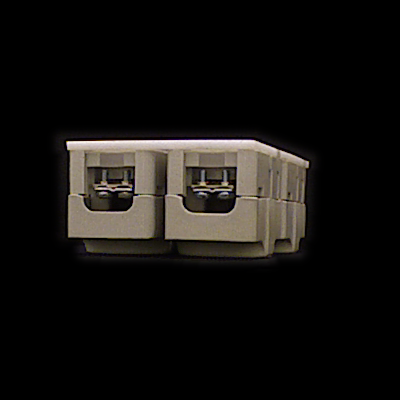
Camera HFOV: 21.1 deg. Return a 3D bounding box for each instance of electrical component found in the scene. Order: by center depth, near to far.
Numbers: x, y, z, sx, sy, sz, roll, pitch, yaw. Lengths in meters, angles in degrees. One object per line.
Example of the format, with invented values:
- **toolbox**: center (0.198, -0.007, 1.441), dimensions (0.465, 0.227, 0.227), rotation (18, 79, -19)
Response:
- **electrical component**: center (0.000, 0.000, 0.650), dimensions (0.105, 0.060, 0.186), rotation (1, -1, 15)
